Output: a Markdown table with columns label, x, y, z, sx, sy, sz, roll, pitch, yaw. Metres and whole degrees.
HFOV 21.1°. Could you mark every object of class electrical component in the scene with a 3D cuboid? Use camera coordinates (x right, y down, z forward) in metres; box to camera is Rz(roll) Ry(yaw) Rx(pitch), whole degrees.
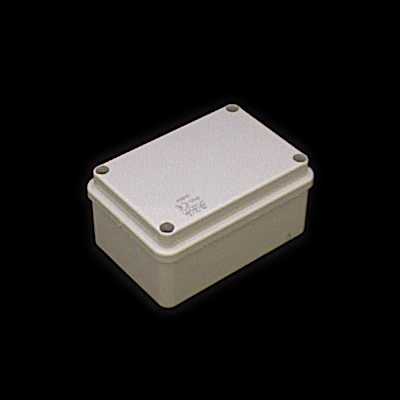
| label | x | y | z | sx | sy | sz | roll | pitch | yaw |
| --- | --- | --- | --- | --- | --- | --- | --- | --- | --- |
| electrical component | 0.000 | 0.000 | 0.630 | 0.113 | 0.057 | 0.077 | -28 | 49 | -28 |
